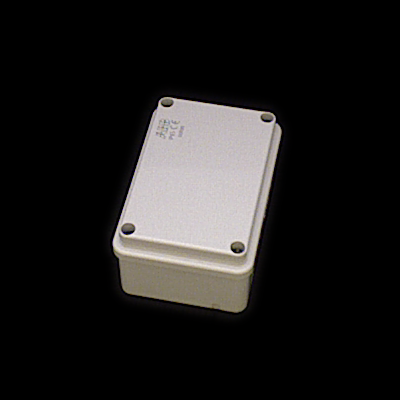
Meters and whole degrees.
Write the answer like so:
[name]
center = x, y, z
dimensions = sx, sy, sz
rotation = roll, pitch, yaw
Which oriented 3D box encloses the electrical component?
[electrical component]
center = 0.000, 0.000, 0.629
dimensions = 0.078, 0.113, 0.057
rotation = 9, -37, 7
